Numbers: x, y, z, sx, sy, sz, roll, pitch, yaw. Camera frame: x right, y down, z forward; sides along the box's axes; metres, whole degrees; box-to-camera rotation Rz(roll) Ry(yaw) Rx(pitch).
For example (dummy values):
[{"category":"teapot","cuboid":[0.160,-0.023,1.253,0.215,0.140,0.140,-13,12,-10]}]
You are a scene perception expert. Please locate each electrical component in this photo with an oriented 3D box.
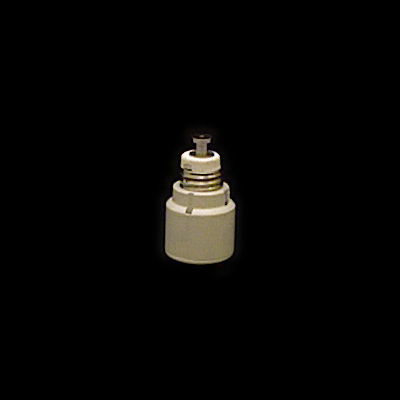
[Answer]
[{"category":"electrical component","cuboid":[0.000,0.000,0.634,0.040,0.079,0.039,1,20,0]}]
